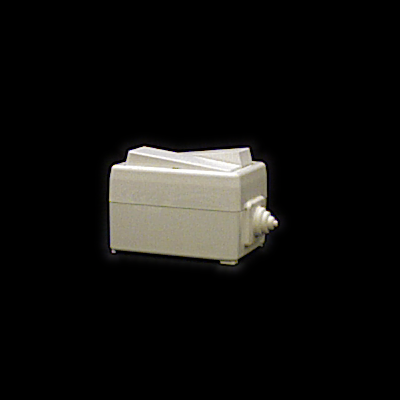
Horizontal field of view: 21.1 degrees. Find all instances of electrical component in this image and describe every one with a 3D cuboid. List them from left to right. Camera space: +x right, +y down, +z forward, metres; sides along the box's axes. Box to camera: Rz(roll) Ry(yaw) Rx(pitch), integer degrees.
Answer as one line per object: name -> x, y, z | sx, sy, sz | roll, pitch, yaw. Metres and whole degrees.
electrical component -> 0.000, 0.000, 0.643 | 0.096, 0.061, 0.061 | 5, 11, 19
